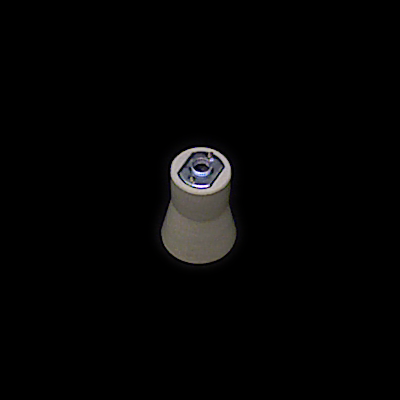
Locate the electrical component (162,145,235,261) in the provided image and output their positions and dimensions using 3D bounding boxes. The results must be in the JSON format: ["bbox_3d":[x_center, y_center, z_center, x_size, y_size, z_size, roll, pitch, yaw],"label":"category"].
[{"bbox_3d":[0.000,0.000,0.626,0.044,0.044,0.065,0,-38,-2],"label":"electrical component"}]
